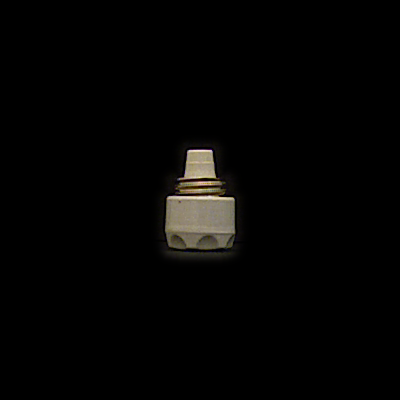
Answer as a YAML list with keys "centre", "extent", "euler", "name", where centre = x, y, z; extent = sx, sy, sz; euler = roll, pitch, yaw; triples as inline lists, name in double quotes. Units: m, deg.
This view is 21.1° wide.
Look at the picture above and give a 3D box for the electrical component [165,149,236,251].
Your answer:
- centre: [0.000, 0.000, 0.656]
  extent: [0.043, 0.062, 0.043]
  euler: [0, 2, 1]
  name: "electrical component"
